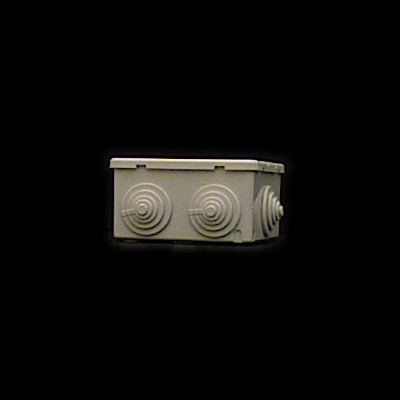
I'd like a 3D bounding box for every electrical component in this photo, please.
[{"bbox_3d":[0.000,0.000,0.655,0.099,0.048,0.100,2,1,15],"label":"electrical component"}]
